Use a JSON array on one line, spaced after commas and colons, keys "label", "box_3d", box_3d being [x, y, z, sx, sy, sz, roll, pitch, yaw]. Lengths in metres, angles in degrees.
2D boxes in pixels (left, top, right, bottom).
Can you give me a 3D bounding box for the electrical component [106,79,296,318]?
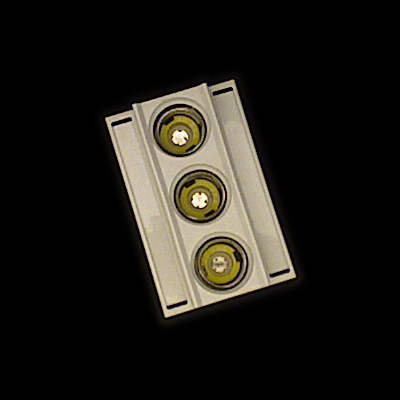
[{"label": "electrical component", "box_3d": [0.000, 0.000, 0.637, 0.079, 0.121, 0.063, -17, -6, -3]}]
